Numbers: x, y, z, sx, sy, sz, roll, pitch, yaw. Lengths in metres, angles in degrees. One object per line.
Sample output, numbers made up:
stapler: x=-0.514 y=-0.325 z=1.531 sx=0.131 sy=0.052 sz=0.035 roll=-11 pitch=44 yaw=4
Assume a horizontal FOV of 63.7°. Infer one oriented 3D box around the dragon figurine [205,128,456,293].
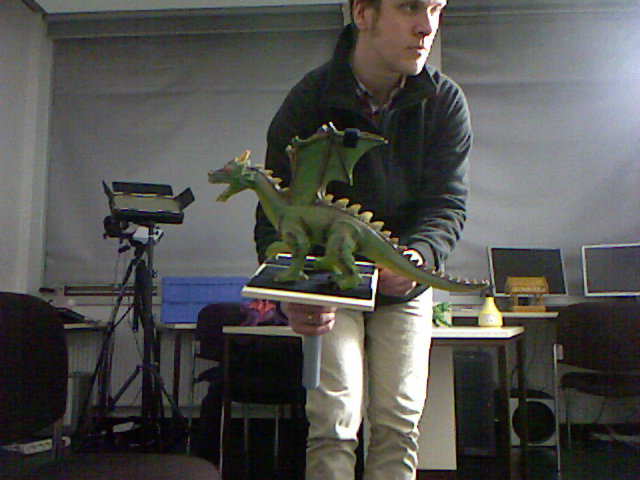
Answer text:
dragon figurine: x=0.019 y=-0.055 z=0.823 sx=0.411 sy=0.240 sz=0.124 roll=6 pitch=17 yaw=7
